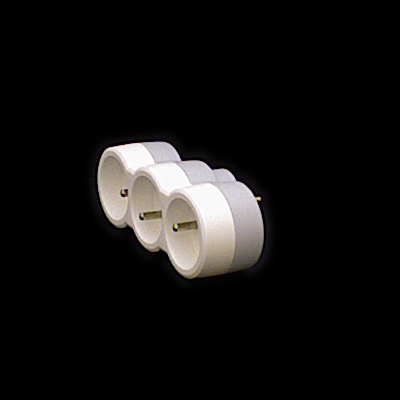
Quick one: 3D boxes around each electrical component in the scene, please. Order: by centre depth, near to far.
[{"bbox_3d":[0.000,0.000,0.643,0.074,0.053,0.136,-9,22,-29],"label":"electrical component"}]
